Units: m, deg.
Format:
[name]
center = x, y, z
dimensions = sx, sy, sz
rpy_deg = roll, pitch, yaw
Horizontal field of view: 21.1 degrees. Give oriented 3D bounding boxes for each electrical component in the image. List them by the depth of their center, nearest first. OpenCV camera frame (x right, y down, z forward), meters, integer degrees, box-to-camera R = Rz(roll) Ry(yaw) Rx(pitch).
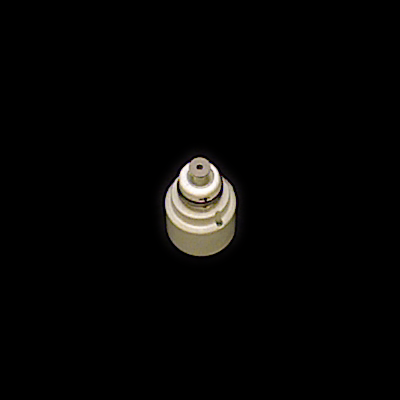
[electrical component]
center = 0.000, 0.000, 0.618
dimensions = 0.040, 0.040, 0.078
rpy_deg = 0, -28, 1
